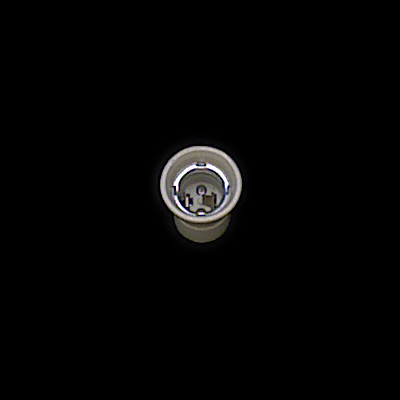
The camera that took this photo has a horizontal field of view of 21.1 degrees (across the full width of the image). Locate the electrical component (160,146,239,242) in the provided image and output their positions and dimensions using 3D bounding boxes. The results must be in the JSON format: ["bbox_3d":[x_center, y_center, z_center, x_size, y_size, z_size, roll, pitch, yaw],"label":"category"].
[{"bbox_3d":[0.000,0.000,0.625,0.044,0.044,0.065,0,-18,1],"label":"electrical component"}]
